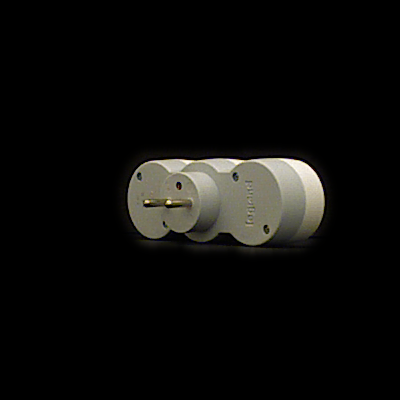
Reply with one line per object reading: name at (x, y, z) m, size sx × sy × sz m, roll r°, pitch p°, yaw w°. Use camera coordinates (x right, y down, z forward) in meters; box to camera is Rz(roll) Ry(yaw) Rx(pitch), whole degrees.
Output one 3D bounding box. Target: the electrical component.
electrical component at (0.000, 0.000, 0.655) m, size 0.074 × 0.052 × 0.136 m, roll -2°, pitch 3°, yaw -45°
